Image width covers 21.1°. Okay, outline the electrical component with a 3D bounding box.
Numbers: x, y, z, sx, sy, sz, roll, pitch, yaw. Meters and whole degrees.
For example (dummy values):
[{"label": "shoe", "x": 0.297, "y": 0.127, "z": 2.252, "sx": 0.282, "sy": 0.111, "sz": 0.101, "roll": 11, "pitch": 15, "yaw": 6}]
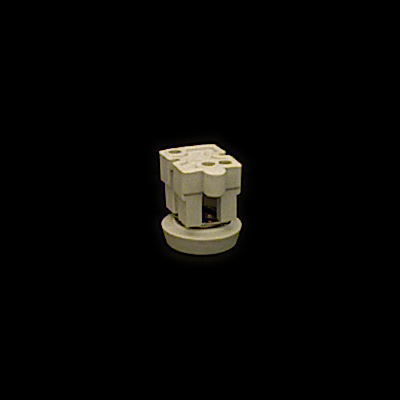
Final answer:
[{"label": "electrical component", "x": 0.000, "y": 0.000, "z": 0.647, "sx": 0.048, "sy": 0.056, "sz": 0.065, "roll": -8, "pitch": 23, "yaw": -19}]
